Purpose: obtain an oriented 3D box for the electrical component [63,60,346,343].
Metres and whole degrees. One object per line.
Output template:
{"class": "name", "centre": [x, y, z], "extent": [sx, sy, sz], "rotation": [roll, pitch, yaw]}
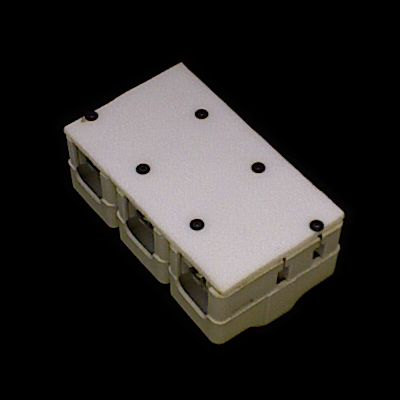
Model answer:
{"class": "electrical component", "centre": [0.000, 0.000, 0.633], "extent": [0.089, 0.149, 0.062], "rotation": [-32, -31, -22]}
